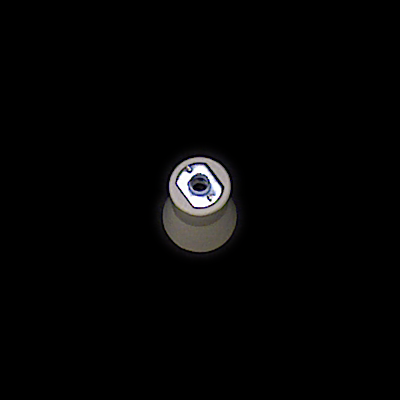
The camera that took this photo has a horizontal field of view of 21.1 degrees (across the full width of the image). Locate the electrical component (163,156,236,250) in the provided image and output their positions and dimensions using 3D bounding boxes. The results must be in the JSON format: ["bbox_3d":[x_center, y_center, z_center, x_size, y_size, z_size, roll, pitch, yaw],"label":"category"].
[{"bbox_3d":[0.000,0.000,0.625,0.044,0.044,0.065,0,-18,-1],"label":"electrical component"}]
